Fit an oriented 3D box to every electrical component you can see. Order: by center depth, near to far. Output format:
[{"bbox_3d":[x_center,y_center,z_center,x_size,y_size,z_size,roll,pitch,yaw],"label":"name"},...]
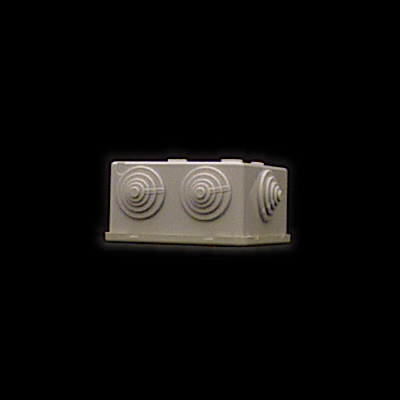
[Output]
[{"bbox_3d":[0.000,0.000,0.650,0.099,0.048,0.100,1,0,22],"label":"electrical component"}]
